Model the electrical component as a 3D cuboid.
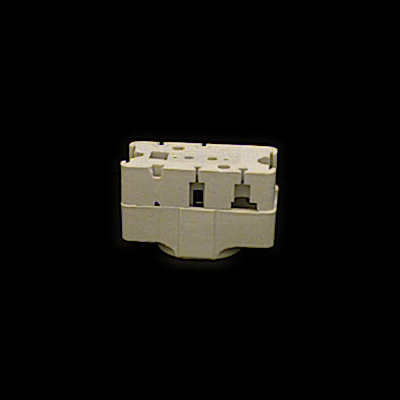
[{"bbox_3d":[0.000,0.000,0.646,0.089,0.056,0.049,2,23,4],"label":"electrical component"}]
